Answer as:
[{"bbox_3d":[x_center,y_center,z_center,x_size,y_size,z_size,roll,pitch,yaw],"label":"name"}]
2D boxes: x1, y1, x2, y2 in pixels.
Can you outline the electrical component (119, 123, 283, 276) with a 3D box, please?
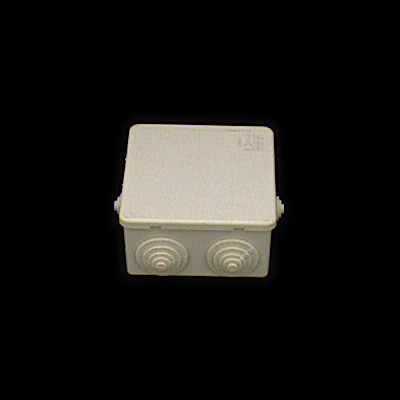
[{"bbox_3d":[0.000,0.000,0.643,0.100,0.049,0.099,2,43,0],"label":"electrical component"}]
